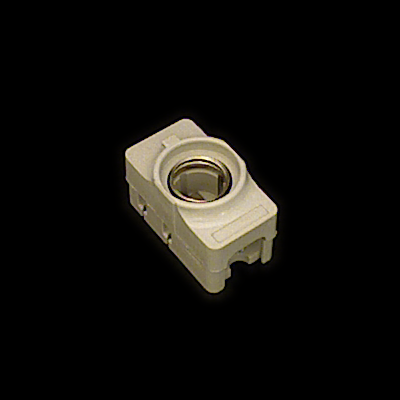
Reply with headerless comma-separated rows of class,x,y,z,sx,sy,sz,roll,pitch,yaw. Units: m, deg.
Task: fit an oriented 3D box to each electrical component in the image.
electrical component,0.000,0.000,0.637,0.050,0.089,0.056,-31,-30,-22
